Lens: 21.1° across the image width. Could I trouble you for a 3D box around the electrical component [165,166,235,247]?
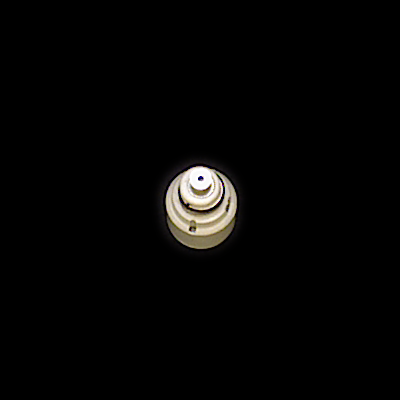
[{"bbox_3d":[0.000,0.000,0.617,0.040,0.040,0.078,0,-18,1],"label":"electrical component"}]
